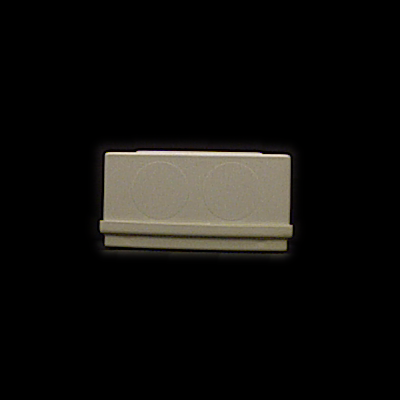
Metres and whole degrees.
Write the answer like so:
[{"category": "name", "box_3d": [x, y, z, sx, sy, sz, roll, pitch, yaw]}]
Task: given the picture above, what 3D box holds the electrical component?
[{"category": "electrical component", "box_3d": [0.000, 0.000, 0.650, 0.109, 0.056, 0.109, 1, 0, 3]}]
